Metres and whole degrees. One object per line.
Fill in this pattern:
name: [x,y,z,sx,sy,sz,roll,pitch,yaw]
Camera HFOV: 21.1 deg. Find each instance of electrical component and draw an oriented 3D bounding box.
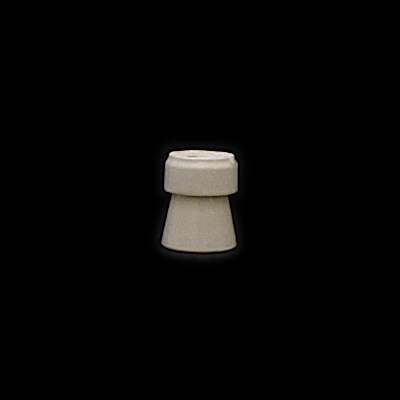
electrical component: [0.000,0.000,0.646,0.045,0.055,0.044,2,11,0]
